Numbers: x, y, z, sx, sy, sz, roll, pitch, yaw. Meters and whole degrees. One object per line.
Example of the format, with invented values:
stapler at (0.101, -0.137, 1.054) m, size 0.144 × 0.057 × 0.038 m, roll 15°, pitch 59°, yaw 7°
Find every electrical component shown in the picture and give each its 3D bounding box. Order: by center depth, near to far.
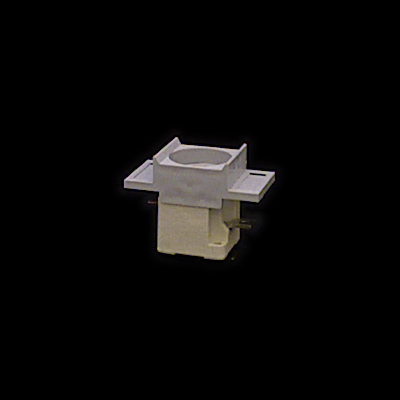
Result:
electrical component at (0.000, 0.000, 0.638) m, size 0.081 × 0.064 × 0.042 m, roll 7°, pitch 21°, yaw 16°
